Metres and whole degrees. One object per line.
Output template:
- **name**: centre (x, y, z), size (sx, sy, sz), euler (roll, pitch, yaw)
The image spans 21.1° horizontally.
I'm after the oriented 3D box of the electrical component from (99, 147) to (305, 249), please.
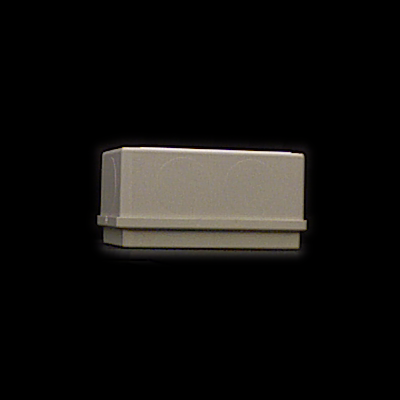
- **electrical component**: centre (0.000, 0.000, 0.649), size (0.113, 0.057, 0.078), euler (1, 1, -15)
